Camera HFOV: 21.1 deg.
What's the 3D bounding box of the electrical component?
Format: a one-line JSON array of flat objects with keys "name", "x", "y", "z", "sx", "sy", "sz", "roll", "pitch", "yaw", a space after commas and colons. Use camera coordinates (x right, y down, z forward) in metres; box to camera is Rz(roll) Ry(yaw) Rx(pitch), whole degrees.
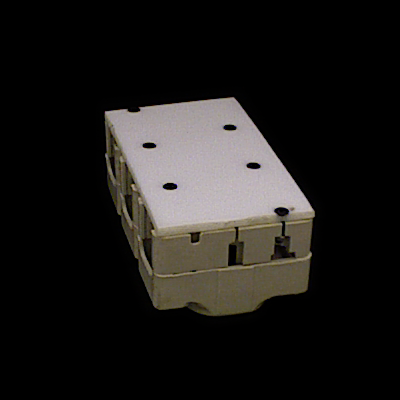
[{"name": "electrical component", "x": 0.000, "y": 0.000, "z": 0.642, "sx": 0.090, "sy": 0.063, "sz": 0.146, "roll": -7, "pitch": 31, "yaw": -13}]
